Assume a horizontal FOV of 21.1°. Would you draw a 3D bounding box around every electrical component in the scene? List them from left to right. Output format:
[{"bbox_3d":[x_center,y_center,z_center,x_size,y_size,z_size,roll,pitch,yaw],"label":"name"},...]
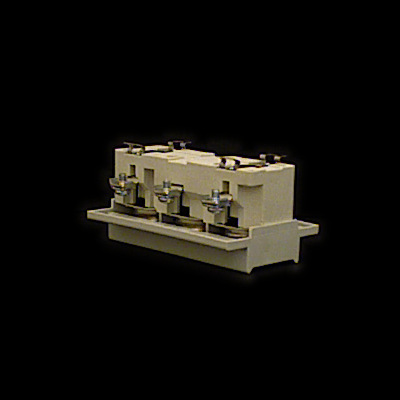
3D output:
[{"bbox_3d":[0.000,0.000,0.654,0.120,0.063,0.079,12,15,43],"label":"electrical component"}]
